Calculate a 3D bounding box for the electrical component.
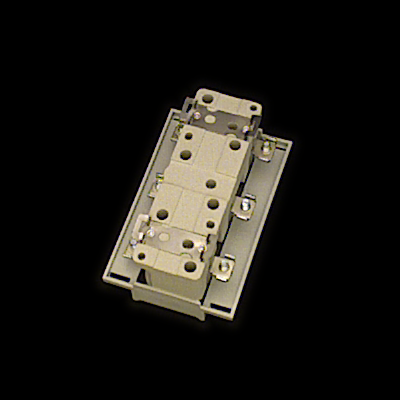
[{"bbox_3d":[0.000,0.000,0.633,0.078,0.122,0.063,16,-26,9],"label":"electrical component"}]
